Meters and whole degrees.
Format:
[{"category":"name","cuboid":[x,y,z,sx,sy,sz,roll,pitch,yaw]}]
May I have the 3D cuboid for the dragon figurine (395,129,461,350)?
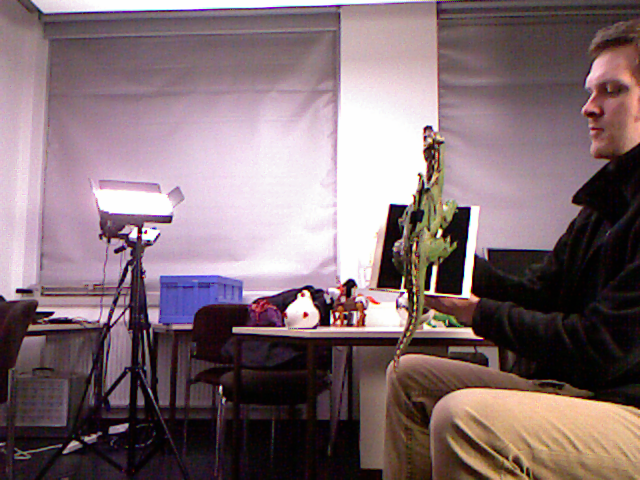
[{"category":"dragon figurine","cuboid":[0.185,-0.012,0.963,0.122,0.418,0.240,5,-18,20]}]
